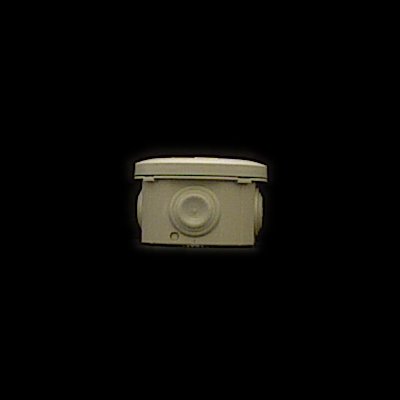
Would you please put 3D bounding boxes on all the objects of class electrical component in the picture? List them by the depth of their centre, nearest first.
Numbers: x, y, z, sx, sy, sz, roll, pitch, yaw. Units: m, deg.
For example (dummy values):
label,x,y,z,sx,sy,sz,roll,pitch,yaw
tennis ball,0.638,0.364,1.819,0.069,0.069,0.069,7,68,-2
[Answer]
label,x,y,z,sx,sy,sz,roll,pitch,yaw
electrical component,0.000,0.000,0.649,0.080,0.051,0.080,1,0,0
